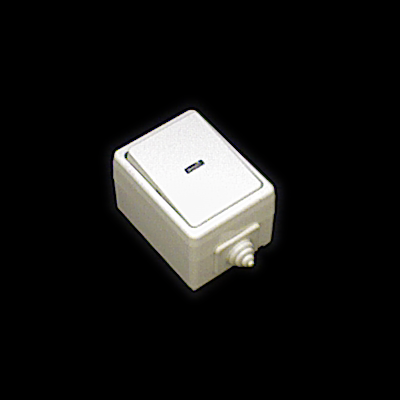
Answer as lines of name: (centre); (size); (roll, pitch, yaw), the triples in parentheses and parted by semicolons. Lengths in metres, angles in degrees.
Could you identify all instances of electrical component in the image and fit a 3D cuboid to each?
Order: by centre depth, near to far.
electrical component: (0.000, 0.000, 0.626); (0.062, 0.096, 0.061); (-31, -31, -22)
